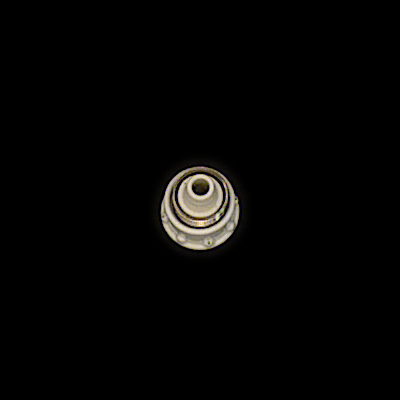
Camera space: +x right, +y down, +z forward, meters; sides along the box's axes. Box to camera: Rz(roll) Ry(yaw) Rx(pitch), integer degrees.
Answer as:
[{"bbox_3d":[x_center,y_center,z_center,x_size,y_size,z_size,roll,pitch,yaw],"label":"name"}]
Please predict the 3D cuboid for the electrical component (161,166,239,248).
[{"bbox_3d":[0.000,0.000,0.634,0.048,0.048,0.061,0,-16,-1],"label":"electrical component"}]
